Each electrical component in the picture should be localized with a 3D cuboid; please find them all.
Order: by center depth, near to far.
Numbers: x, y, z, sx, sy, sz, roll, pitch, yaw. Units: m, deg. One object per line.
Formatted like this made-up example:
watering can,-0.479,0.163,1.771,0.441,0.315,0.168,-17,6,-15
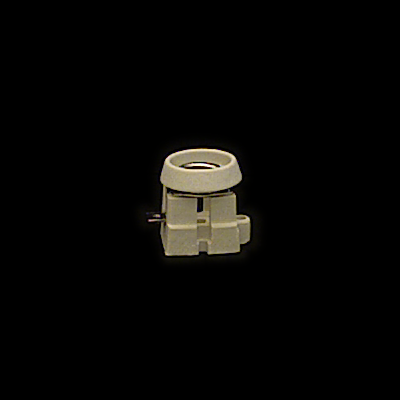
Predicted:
electrical component,0.000,0.000,0.645,0.067,0.056,0.048,-3,20,-10
